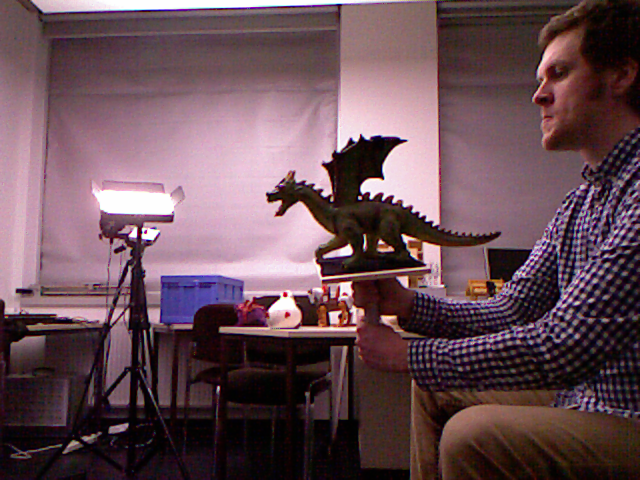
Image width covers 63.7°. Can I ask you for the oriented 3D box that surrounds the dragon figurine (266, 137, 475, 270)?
[{"bbox_3d":[0.101,-0.078,1.009,0.412,0.241,0.123,-8,13,-9],"label":"dragon figurine"}]
